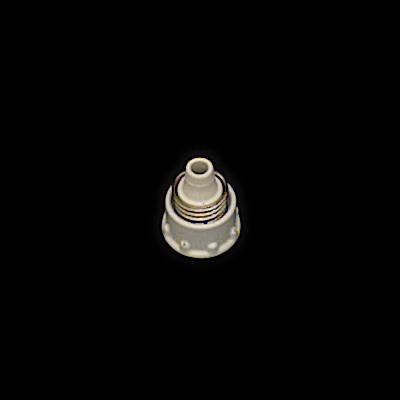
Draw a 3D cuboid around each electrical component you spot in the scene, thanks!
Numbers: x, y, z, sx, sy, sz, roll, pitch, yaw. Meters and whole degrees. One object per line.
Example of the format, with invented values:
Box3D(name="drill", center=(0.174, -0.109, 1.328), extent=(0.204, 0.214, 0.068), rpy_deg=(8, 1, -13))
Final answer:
Box3D(name="electrical component", center=(0.000, 0.000, 0.635), extent=(0.048, 0.048, 0.062), rpy_deg=(0, -38, 0))
